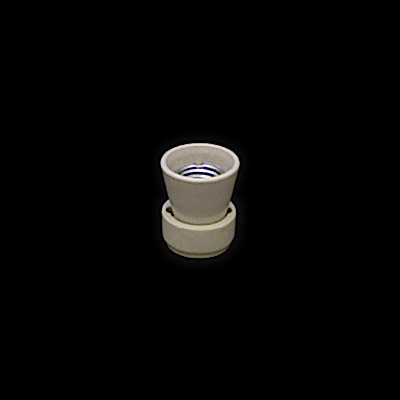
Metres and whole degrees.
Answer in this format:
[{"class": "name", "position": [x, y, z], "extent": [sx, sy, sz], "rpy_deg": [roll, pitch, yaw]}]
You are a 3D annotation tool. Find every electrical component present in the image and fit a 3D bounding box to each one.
[{"class": "electrical component", "position": [0.000, 0.000, 0.634], "extent": [0.045, 0.056, 0.044], "rpy_deg": [0, 32, 0]}]
